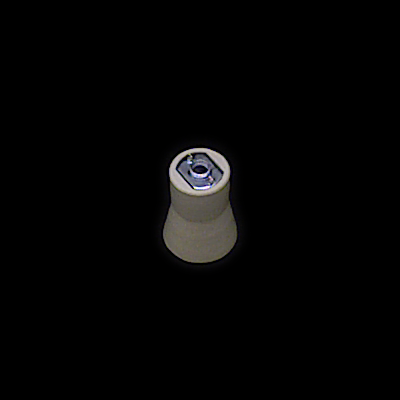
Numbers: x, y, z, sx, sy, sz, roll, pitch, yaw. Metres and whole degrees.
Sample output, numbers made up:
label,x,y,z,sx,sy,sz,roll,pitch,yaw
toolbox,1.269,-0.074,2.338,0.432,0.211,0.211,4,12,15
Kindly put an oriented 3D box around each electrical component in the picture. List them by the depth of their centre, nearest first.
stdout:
label,x,y,z,sx,sy,sz,roll,pitch,yaw
electrical component,0.000,0.000,0.626,0.044,0.044,0.065,0,-37,0
